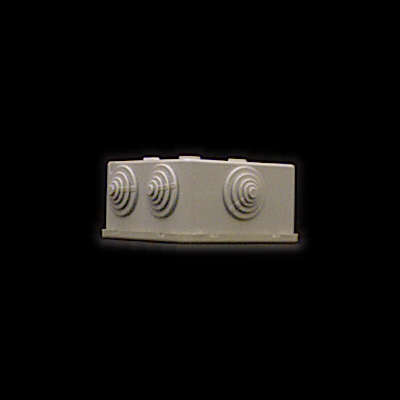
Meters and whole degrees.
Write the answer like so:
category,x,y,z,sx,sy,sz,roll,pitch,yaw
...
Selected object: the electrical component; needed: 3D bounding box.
category,x,y,z,sx,sy,sz,roll,pitch,yaw
electrical component,0.000,0.000,0.650,0.100,0.048,0.099,1,0,-37
